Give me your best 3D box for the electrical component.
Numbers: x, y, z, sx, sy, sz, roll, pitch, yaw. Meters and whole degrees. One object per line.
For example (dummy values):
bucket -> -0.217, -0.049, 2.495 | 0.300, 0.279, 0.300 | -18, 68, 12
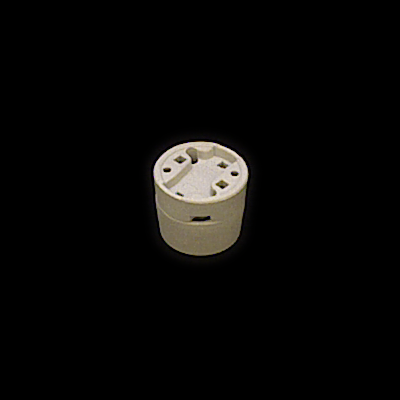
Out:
electrical component -> 0.000, 0.000, 0.637 | 0.055, 0.047, 0.055 | 1, 43, 0
